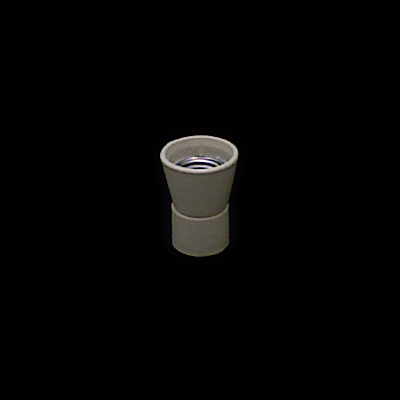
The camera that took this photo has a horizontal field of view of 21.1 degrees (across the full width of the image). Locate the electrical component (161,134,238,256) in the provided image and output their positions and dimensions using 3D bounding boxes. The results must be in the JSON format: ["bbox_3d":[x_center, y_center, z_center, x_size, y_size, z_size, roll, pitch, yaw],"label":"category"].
[{"bbox_3d":[0.000,0.000,0.633,0.044,0.066,0.044,0,32,0],"label":"electrical component"}]
